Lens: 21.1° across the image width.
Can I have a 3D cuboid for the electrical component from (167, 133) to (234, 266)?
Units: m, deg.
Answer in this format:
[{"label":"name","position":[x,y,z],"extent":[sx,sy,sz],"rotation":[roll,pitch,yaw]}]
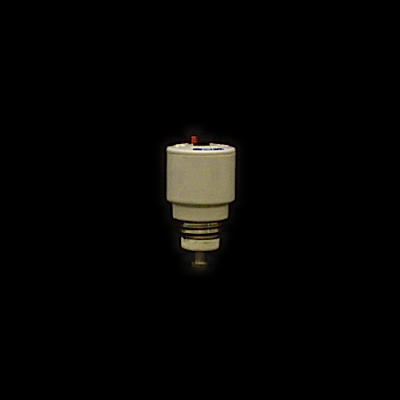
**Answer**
[{"label":"electrical component","position":[0.000,0.000,0.645],"extent":[0.040,0.079,0.040],"rotation":[1,11,0]}]
